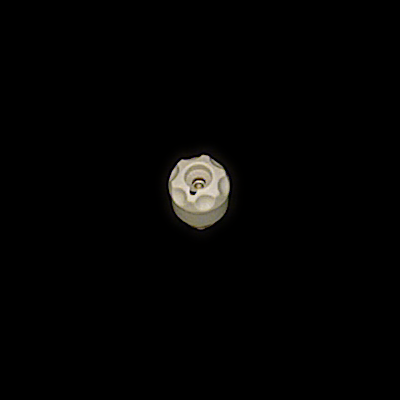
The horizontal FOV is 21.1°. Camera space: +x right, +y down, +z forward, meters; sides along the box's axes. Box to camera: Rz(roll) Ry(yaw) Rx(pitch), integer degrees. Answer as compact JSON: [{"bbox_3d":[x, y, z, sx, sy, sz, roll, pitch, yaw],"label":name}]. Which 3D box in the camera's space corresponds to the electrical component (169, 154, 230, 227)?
[{"bbox_3d":[0.000,0.000,0.633,0.035,0.035,0.061,0,-26,1],"label":"electrical component"}]
